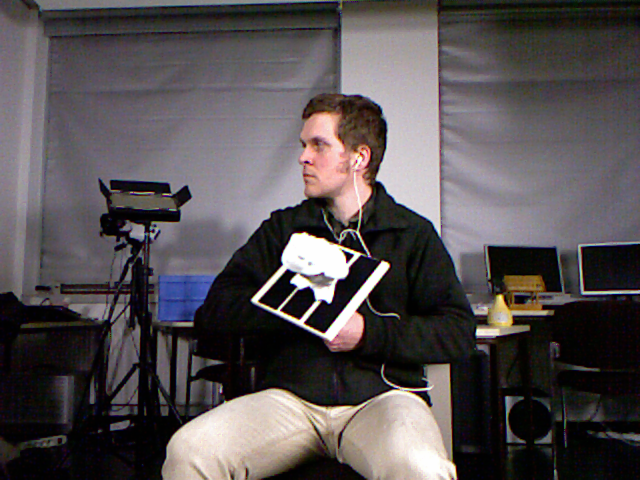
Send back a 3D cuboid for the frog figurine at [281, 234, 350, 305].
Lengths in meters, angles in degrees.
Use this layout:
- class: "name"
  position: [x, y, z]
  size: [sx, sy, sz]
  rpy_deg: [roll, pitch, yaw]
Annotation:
- class: "frog figurine"
  position: [-0.014, 0.032, 0.970]
  size: [0.124, 0.156, 0.140]
  rpy_deg: [-29, 45, -13]
